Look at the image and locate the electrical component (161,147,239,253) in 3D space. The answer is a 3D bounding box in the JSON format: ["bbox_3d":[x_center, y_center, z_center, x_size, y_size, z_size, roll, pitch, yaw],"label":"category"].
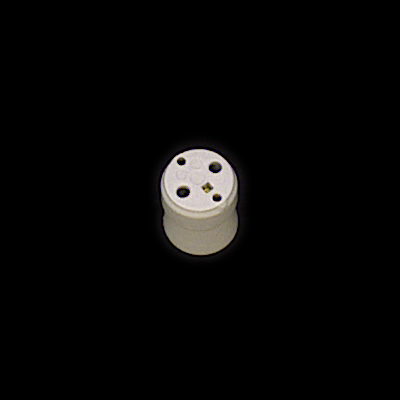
[{"bbox_3d":[0.000,0.000,0.628,0.045,0.045,0.055,0,-27,0],"label":"electrical component"}]
